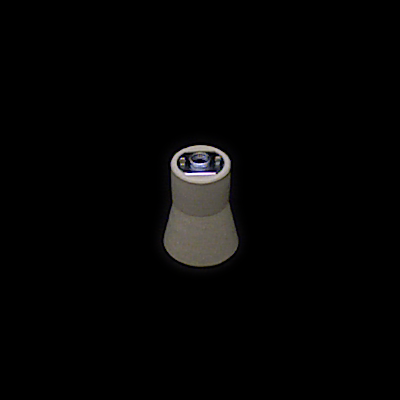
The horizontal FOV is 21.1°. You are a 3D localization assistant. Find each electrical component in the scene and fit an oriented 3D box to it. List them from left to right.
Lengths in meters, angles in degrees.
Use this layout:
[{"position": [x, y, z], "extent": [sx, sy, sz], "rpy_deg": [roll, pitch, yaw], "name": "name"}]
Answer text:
[{"position": [0.000, 0.000, 0.631], "extent": [0.044, 0.066, 0.044], "rpy_deg": [0, 41, 0], "name": "electrical component"}]
